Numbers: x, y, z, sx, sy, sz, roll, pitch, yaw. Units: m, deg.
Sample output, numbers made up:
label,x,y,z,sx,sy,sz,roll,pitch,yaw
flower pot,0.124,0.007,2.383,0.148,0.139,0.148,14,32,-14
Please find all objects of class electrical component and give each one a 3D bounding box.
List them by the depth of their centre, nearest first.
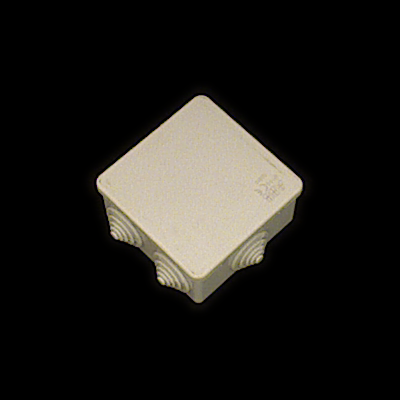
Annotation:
label,x,y,z,sx,sy,sz,roll,pitch,yaw
electrical component,0.000,0.000,0.640,0.100,0.099,0.048,-41,-19,-18
